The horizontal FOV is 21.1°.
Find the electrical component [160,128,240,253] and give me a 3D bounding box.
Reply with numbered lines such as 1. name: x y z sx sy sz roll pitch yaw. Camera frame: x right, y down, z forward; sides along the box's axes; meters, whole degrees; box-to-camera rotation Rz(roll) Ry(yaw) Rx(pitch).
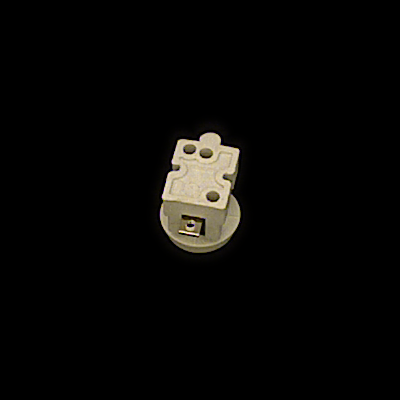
1. electrical component: 0.000 0.000 0.639 0.048 0.066 0.055 10 -35 6
